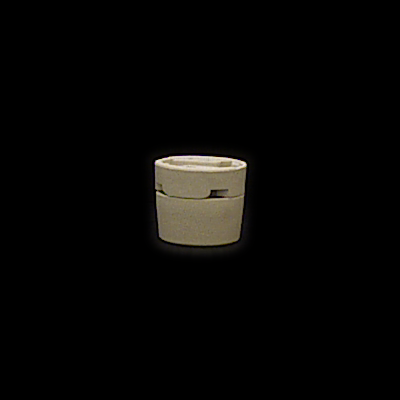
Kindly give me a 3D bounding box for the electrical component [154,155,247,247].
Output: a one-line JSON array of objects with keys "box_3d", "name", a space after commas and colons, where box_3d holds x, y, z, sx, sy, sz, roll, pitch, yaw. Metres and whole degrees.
[{"box_3d": [0.000, 0.000, 0.646, 0.055, 0.047, 0.055, 1, 11, 0], "name": "electrical component"}]
